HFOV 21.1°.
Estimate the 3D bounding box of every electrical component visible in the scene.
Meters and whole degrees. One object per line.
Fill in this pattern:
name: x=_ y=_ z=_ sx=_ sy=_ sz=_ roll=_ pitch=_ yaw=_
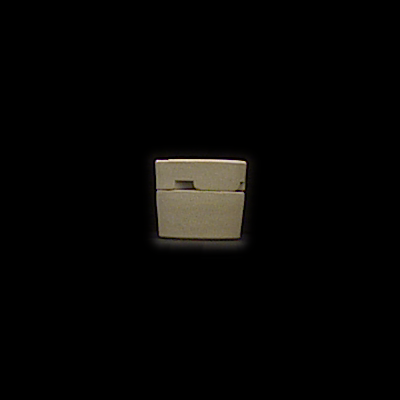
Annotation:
electrical component: x=0.000 y=0.000 z=0.649 sx=0.055 sy=0.047 sz=0.055 roll=1 pitch=0 yaw=0
